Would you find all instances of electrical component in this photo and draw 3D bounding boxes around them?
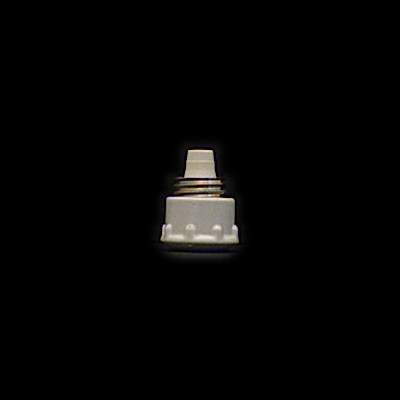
[{"bbox_3d":[0.000,0.000,0.657,0.048,0.062,0.048,1,1,1],"label":"electrical component"}]
